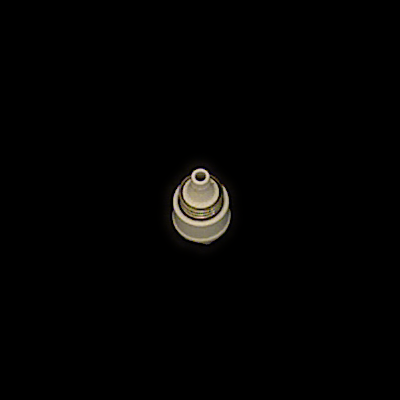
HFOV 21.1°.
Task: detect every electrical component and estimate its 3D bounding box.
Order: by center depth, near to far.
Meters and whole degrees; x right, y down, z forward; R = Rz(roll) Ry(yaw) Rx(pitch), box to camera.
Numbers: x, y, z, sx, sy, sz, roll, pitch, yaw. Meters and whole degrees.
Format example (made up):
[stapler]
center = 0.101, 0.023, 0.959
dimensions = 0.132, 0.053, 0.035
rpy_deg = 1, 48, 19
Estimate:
[electrical component]
center = 0.000, 0.000, 0.637
dimensions = 0.035, 0.035, 0.061
rpy_deg = 0, -28, 0
